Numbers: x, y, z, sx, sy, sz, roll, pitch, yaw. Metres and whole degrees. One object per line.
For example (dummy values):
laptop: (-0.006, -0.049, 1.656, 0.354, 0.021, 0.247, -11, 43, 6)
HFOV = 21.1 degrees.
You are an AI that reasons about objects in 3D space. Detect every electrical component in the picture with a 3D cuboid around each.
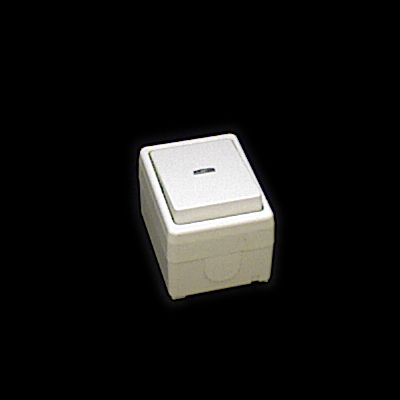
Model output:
electrical component: (0.000, 0.000, 0.632, 0.062, 0.061, 0.095, -10, 43, -12)
